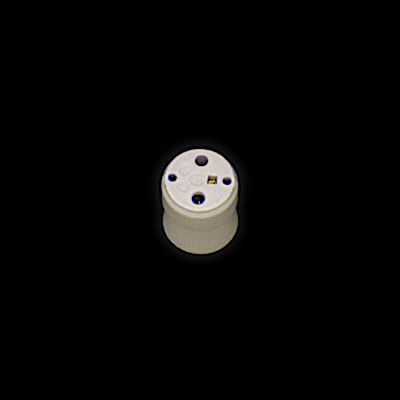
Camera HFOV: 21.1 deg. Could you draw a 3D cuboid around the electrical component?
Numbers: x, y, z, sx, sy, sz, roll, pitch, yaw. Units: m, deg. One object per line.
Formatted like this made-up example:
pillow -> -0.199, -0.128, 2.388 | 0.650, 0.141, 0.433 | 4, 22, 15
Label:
electrical component -> 0.000, 0.000, 0.628 | 0.045, 0.045, 0.055 | 0, -27, 0
